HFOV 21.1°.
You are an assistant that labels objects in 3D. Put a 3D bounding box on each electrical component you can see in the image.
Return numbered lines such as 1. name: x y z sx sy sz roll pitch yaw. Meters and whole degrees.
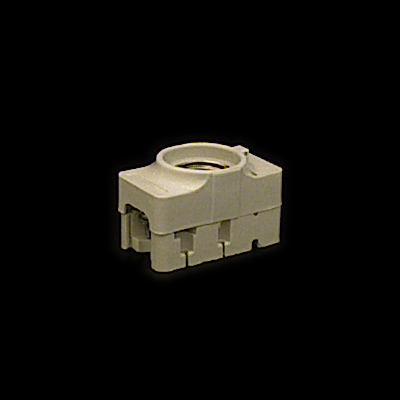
1. electrical component: 0.000 0.000 0.646 0.090 0.056 0.049 -14 26 -33
